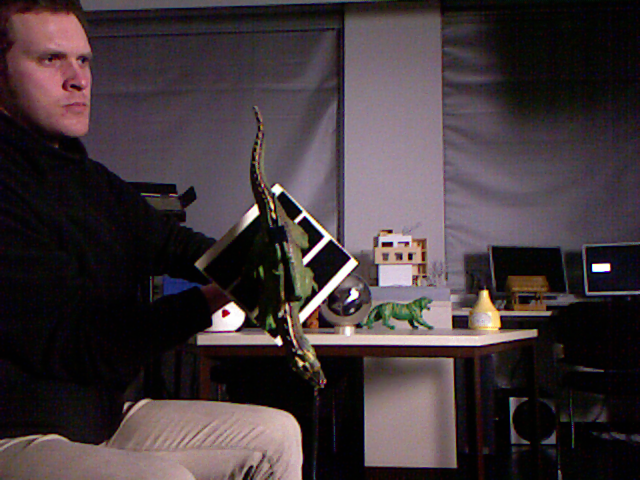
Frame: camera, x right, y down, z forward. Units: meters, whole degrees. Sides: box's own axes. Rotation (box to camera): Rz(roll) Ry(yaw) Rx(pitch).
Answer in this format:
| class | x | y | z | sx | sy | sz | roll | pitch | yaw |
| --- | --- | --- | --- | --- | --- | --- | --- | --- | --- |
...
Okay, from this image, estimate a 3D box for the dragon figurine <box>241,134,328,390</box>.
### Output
| class | x | y | z | sx | sy | sz | roll | pitch | yaw |
| --- | --- | --- | --- | --- | --- | --- | --- | --- | --- |
| dragon figurine | -0.059 | 0.019 | 0.772 | 0.123 | 0.413 | 0.243 | -14 | -1 | -11 |
